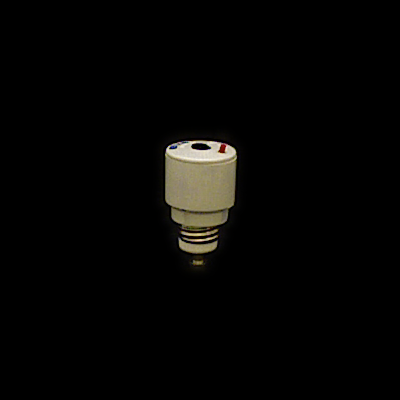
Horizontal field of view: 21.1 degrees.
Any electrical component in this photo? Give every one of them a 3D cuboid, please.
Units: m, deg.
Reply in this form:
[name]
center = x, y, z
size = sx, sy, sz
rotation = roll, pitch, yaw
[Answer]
[electrical component]
center = 0.000, 0.000, 0.633
size = 0.040, 0.079, 0.039
rotation = 1, 21, -1
